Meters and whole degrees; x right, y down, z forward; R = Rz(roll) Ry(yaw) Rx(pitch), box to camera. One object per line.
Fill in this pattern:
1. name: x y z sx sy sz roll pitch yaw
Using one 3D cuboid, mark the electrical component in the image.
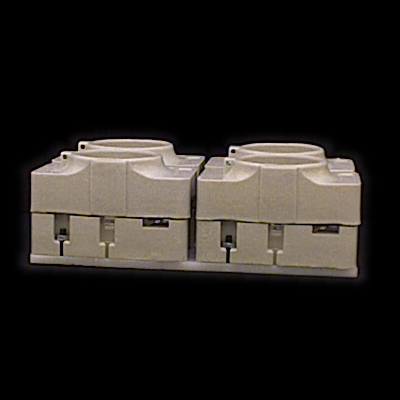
1. electrical component: 0.000 0.000 0.643 0.186 0.061 0.105 2 10 5
